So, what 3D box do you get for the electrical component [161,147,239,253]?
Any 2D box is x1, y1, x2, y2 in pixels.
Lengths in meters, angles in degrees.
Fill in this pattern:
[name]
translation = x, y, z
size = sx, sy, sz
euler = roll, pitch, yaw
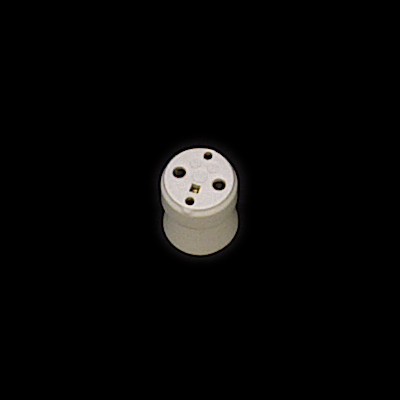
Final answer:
[electrical component]
translation = 0.000, 0.000, 0.629
size = 0.045, 0.045, 0.055
euler = 0, -27, 0
